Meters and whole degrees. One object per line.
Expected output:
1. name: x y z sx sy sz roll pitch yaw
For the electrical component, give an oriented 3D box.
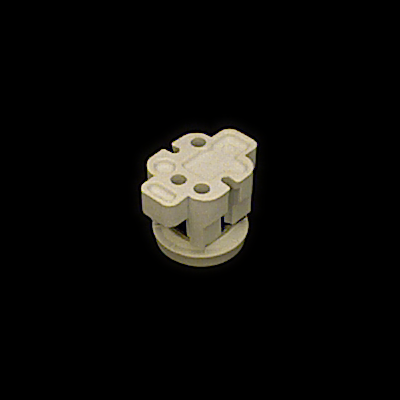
1. electrical component: 0.000 0.000 0.641 0.057 0.057 0.079 30 49 29
